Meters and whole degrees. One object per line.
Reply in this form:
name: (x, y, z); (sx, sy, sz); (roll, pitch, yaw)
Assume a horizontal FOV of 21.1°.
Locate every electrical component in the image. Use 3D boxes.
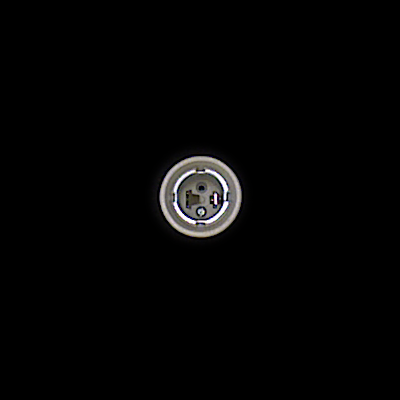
electrical component: (0.000, 0.000, 0.625); (0.044, 0.044, 0.065); (0, -5, 0)
